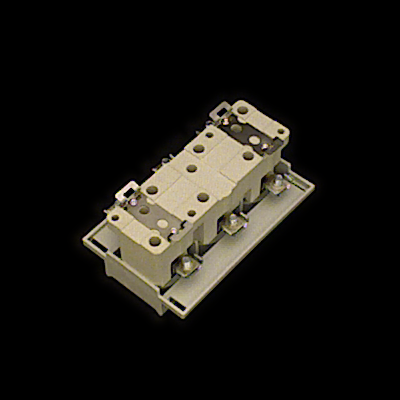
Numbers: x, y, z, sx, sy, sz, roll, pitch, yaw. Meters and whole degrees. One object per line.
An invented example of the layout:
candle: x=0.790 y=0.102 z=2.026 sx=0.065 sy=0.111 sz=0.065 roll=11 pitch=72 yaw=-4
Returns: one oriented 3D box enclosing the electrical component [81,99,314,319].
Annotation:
electrical component: x=0.000 y=0.000 z=0.634 sx=0.078 sy=0.121 sz=0.063 roll=35 pitch=-30 yaw=22
